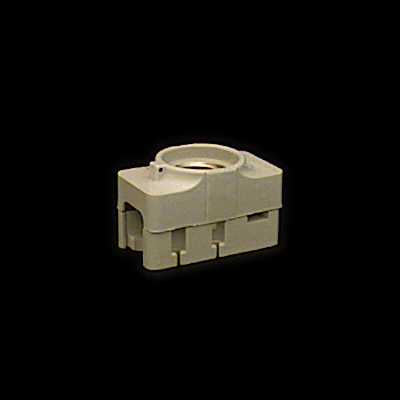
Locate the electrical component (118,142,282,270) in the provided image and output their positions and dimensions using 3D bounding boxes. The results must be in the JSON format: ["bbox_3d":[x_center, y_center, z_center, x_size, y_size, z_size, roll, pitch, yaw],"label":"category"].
[{"bbox_3d":[0.000,0.000,0.647,0.090,0.056,0.049,-11,25,-28],"label":"electrical component"}]
